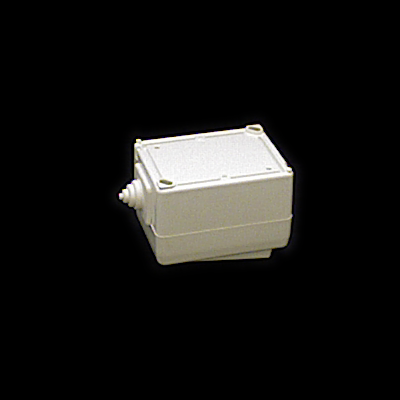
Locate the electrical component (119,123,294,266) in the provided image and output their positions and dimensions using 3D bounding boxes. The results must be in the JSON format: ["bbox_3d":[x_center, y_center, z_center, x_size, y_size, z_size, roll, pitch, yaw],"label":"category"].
[{"bbox_3d":[0.000,0.000,0.630,0.096,0.061,0.061,-8,33,-15],"label":"electrical component"}]
